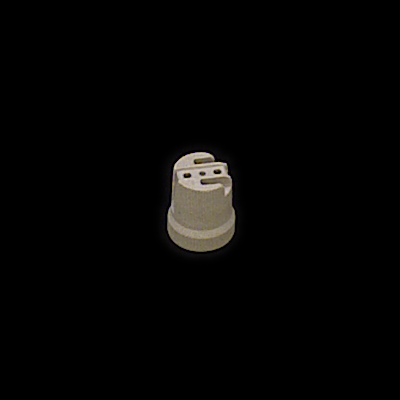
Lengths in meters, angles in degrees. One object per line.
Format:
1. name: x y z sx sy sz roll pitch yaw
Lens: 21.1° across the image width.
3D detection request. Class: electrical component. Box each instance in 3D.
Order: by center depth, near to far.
1. electrical component: 0.000 0.000 0.635 0.040 0.046 0.040 0 43 0
